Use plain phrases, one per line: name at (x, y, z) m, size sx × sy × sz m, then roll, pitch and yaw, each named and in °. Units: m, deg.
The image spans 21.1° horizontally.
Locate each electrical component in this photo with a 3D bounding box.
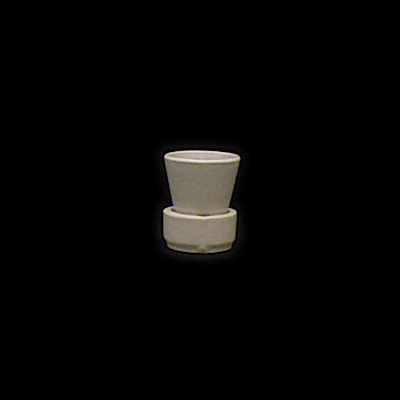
electrical component at (0.000, 0.000, 0.646) m, size 0.045 × 0.055 × 0.044 m, roll 2°, pitch 11°, yaw 0°
